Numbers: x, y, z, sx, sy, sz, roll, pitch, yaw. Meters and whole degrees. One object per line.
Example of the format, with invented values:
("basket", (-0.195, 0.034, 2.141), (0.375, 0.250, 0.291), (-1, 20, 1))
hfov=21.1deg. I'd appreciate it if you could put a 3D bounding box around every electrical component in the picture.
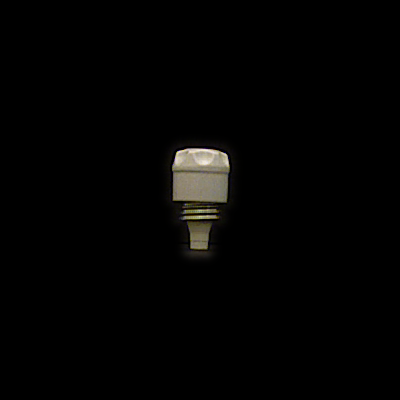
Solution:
("electrical component", (0.000, 0.000, 0.658), (0.035, 0.061, 0.035), (2, 2, 0))
